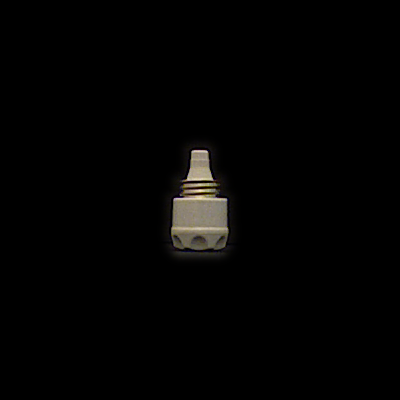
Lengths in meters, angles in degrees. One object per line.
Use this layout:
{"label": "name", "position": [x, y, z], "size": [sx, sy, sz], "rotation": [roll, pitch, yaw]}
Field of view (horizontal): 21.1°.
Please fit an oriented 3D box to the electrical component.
{"label": "electrical component", "position": [0.000, 0.000, 0.661], "size": [0.035, 0.061, 0.035], "rotation": [0, 1, 0]}
